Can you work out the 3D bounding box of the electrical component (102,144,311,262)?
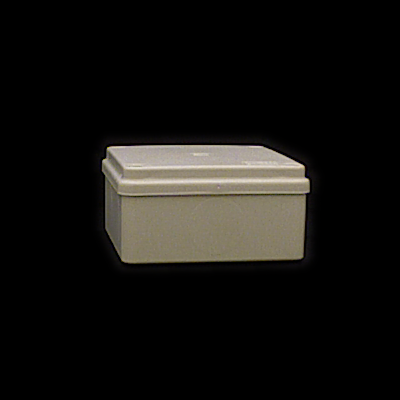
[{"bbox_3d":[0.000,0.000,0.646,0.109,0.056,0.107,-1,10,-11],"label":"electrical component"}]
